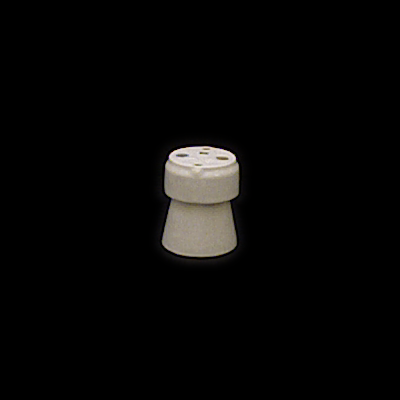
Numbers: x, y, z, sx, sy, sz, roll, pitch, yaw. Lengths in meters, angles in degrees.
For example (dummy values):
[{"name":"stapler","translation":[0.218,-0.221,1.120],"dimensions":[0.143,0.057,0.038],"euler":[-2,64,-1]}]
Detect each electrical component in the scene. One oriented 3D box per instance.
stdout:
[{"name":"electrical component","translation":[0.000,0.000,0.640],"dimensions":[0.045,0.056,0.044],"euler":[1,22,0]}]
